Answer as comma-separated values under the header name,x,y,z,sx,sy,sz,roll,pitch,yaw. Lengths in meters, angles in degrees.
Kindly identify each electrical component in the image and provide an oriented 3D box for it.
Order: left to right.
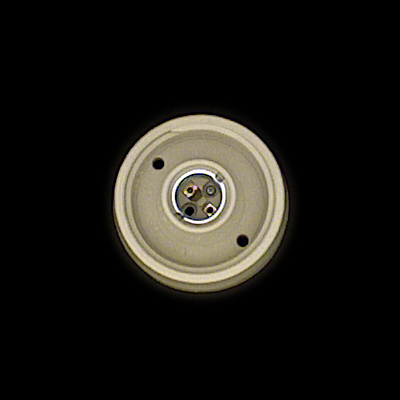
name,x,y,z,sx,sy,sz,roll,pitch,yaw
electrical component,0.000,0.000,0.635,0.108,0.108,0.060,0,-6,0
